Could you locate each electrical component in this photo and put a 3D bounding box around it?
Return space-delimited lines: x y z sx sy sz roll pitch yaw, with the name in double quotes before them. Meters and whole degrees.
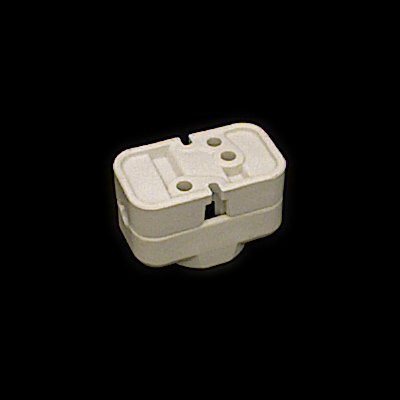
"electrical component" 0.000 0.000 0.639 0.096 0.060 0.053 -15 45 -16
